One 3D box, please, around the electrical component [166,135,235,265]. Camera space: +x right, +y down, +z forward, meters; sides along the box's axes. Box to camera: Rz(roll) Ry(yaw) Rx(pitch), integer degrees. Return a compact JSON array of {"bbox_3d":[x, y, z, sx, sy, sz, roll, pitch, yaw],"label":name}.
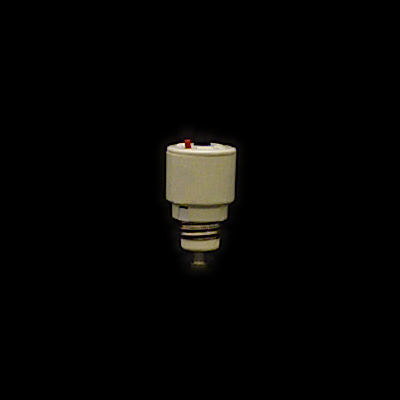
[{"bbox_3d":[0.000,0.000,0.640,0.040,0.079,0.040,1,12,0],"label":"electrical component"}]
